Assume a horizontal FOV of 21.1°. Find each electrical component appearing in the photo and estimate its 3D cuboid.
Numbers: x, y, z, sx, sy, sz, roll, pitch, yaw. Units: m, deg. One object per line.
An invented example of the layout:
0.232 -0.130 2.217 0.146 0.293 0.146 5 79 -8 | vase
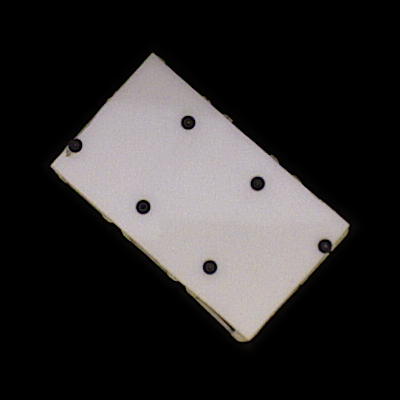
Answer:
0.000 0.000 0.631 0.150 0.089 0.061 42 -4 4 | electrical component
